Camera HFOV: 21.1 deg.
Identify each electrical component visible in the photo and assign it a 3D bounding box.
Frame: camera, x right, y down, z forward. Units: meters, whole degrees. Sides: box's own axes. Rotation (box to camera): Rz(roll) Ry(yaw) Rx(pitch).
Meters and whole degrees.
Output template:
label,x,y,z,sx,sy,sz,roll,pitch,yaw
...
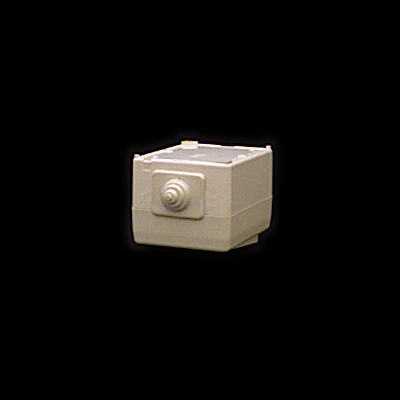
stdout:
label,x,y,z,sx,sy,sz,roll,pitch,yaw
electrical component,0.000,0.000,0.644,0.061,0.061,0.096,5,12,21
